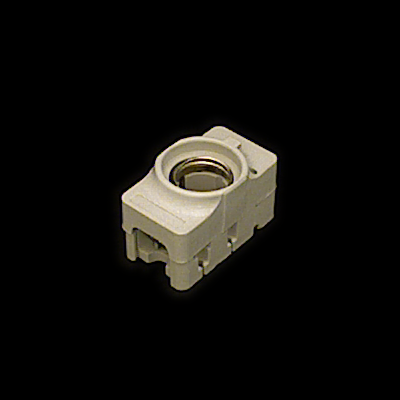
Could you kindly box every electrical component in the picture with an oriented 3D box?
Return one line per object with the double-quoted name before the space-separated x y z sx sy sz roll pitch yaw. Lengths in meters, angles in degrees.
"electrical component" 0.000 0.000 0.639 0.049 0.056 0.090 30 50 28
